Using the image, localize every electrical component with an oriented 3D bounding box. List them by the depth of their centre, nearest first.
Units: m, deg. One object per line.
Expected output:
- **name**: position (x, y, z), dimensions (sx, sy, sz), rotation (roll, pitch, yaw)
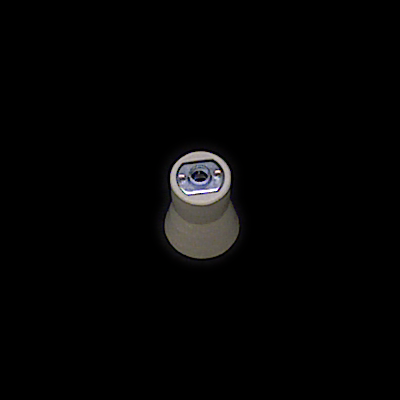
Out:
- **electrical component**: position (0.000, 0.000, 0.626), dimensions (0.044, 0.044, 0.065), rotation (0, -28, 1)
